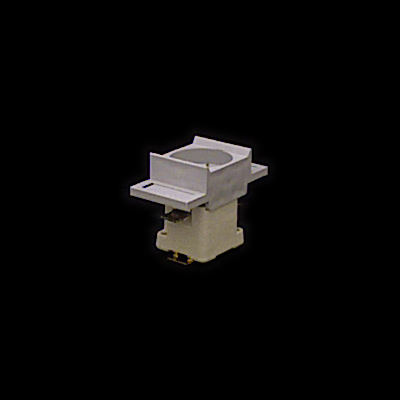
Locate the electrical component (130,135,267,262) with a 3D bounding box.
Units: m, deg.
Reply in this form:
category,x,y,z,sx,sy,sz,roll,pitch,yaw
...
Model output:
category,x,y,z,sx,sy,sz,roll,pitch,yaw
electrical component,0.000,0.000,0.640,0.042,0.064,0.080,15,25,35
